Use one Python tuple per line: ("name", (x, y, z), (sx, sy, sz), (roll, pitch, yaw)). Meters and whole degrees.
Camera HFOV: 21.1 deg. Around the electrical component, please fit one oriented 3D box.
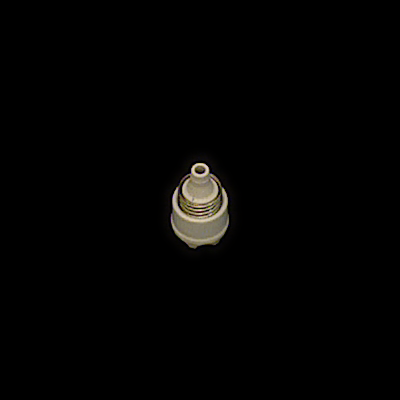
("electrical component", (0.000, 0.000, 0.641), (0.035, 0.035, 0.062), (0, -36, 0))
